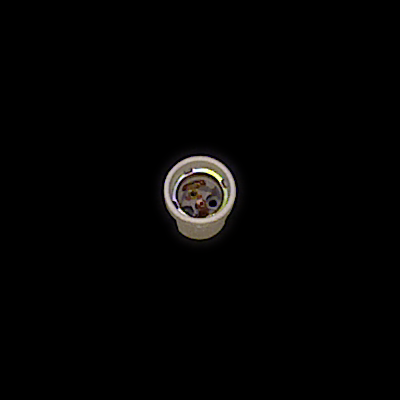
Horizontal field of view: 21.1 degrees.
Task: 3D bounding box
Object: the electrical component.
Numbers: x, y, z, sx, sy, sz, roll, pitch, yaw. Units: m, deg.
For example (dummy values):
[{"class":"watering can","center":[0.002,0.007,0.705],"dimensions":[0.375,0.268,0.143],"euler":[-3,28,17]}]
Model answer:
[{"class":"electrical component","center":[0.000,0.000,0.627],"dimensions":[0.040,0.040,0.046],"euler":[0,-17,-1]}]
